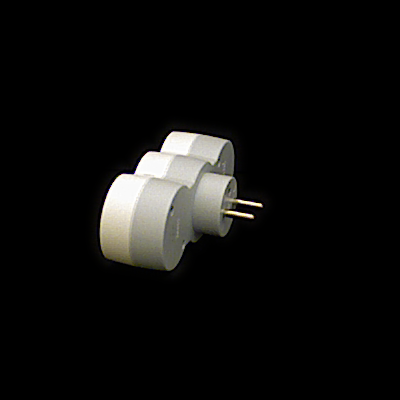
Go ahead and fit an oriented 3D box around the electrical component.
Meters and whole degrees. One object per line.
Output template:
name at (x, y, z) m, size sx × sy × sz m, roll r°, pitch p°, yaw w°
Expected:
electrical component at (0.000, 0.000, 0.645) m, size 0.073 × 0.053 × 0.137 m, roll 9°, pitch 23°, yaw 16°
